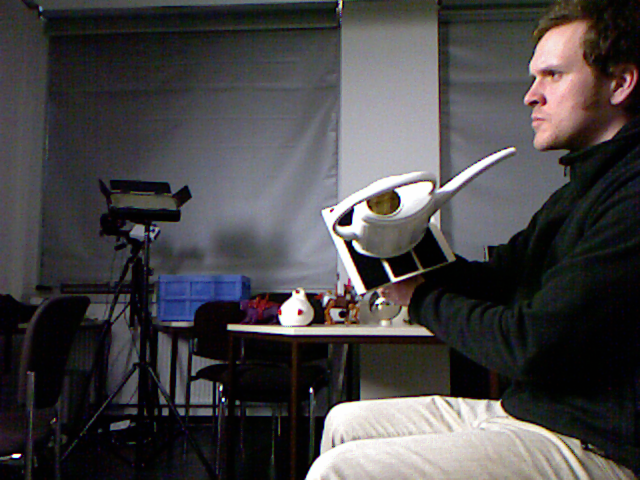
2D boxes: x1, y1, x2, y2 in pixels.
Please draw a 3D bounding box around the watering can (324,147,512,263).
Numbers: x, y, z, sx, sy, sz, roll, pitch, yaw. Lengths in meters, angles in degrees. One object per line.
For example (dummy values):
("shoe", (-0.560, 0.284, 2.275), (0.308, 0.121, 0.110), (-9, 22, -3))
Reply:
("watering can", (0.176, -0.061, 0.955), (0.350, 0.106, 0.220), (-17, -28, -7))
